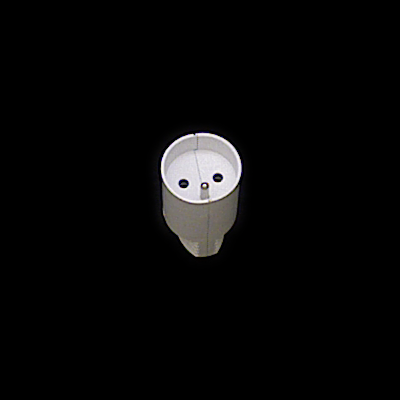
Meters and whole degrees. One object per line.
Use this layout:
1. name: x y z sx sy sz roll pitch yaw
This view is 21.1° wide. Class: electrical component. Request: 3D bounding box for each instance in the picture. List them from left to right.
1. electrical component: 0.000 0.000 0.616 0.043 0.043 0.081 0 -27 1
